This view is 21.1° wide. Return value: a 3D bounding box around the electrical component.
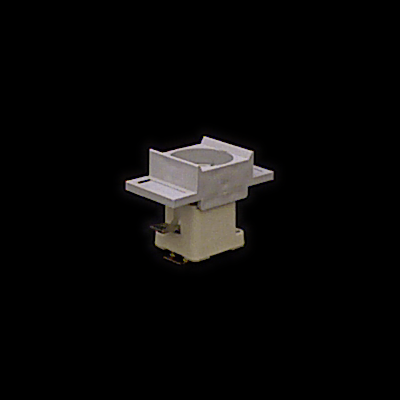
[{"bbox_3d":[0.000,0.000,0.635,0.081,0.064,0.041,-17,28,-40],"label":"electrical component"}]
